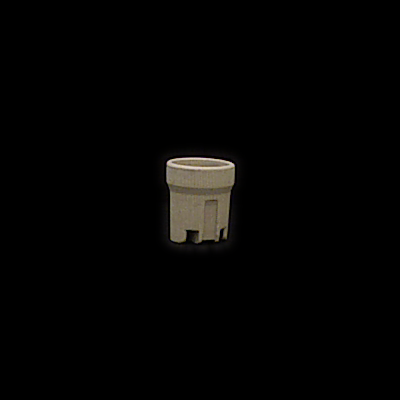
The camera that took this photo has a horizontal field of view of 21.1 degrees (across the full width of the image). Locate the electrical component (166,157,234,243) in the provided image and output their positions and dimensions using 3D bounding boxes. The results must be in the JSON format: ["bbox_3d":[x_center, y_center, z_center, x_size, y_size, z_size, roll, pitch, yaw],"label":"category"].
[{"bbox_3d":[0.000,0.000,0.642,0.040,0.046,0.040,1,11,0],"label":"electrical component"}]
